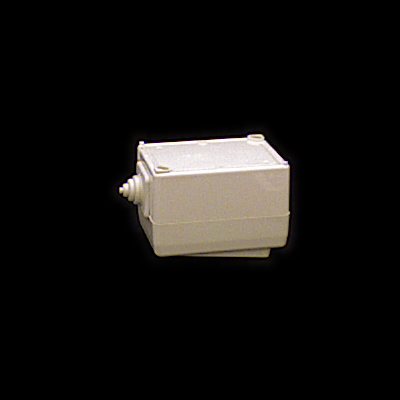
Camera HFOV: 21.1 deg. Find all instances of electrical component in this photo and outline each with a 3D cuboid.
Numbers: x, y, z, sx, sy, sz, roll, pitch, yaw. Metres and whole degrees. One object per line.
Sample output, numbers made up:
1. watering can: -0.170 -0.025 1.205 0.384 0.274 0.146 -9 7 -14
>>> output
1. electrical component: 0.000 0.000 0.641 0.096 0.061 0.061 -4 22 -12
